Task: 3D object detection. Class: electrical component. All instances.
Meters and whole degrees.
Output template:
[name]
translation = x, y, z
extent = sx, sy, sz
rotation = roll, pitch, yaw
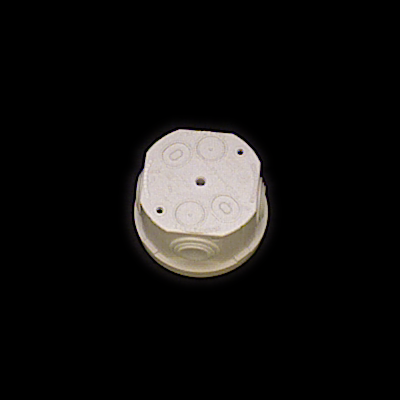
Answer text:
[electrical component]
translation = 0.000, 0.000, 0.631
extent = 0.080, 0.080, 0.050
rotation = 0, -27, 0
